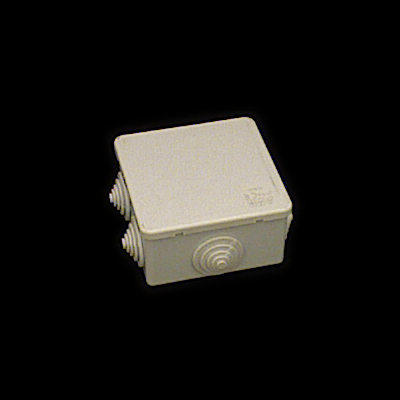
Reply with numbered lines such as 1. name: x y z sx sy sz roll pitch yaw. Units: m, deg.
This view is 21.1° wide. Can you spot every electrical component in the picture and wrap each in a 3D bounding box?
1. electrical component: 0.000 0.000 0.642 0.100 0.049 0.098 -9 44 -11
